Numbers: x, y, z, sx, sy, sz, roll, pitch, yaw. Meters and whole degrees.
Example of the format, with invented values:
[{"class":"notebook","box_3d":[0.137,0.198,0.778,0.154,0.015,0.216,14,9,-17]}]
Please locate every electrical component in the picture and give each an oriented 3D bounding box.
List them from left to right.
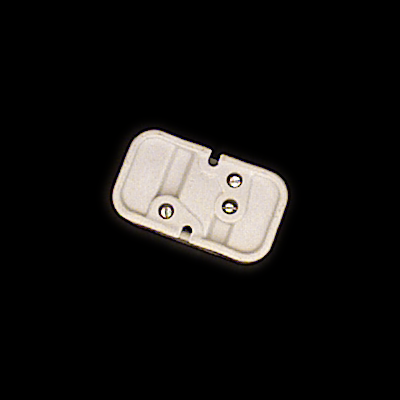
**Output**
[{"class":"electrical component","box_3d":[0.000,0.000,0.637,0.095,0.054,0.059,20,-5,3]}]
